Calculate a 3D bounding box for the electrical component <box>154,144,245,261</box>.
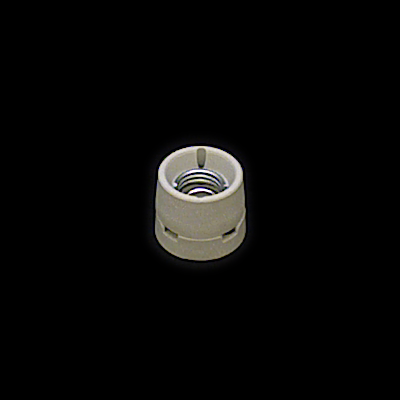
[{"bbox_3d":[0.000,0.000,0.635,0.055,0.047,0.055,0,43,0],"label":"electrical component"}]
